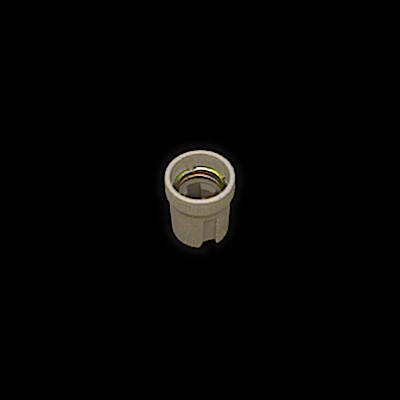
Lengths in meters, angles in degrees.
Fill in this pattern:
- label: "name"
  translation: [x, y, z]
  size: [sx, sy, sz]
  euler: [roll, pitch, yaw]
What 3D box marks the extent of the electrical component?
- label: "electrical component"
  translation: [0.000, 0.000, 0.632]
  size: [0.040, 0.039, 0.047]
  euler: [0, -38, -1]
